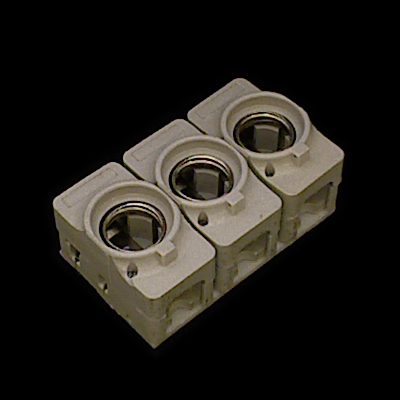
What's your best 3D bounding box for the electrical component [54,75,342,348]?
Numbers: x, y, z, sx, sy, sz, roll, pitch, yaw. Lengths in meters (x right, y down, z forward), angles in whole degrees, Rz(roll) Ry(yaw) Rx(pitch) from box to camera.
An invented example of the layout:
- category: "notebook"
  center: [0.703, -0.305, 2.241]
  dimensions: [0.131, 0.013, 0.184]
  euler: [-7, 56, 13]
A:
- category: "electrical component"
  center: [0.000, 0.000, 0.633]
  dimensions: [0.149, 0.062, 0.089]
  euler: [-36, 61, -24]
